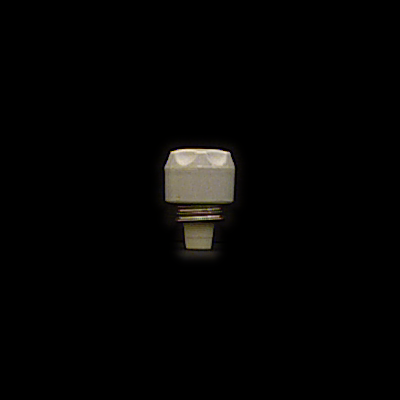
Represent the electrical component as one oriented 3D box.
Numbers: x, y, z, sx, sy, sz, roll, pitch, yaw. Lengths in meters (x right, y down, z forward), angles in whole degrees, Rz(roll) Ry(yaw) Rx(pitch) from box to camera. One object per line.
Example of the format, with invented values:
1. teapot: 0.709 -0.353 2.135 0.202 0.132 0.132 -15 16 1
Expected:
1. electrical component: 0.000 0.000 0.655 0.043 0.062 0.043 1 2 0
